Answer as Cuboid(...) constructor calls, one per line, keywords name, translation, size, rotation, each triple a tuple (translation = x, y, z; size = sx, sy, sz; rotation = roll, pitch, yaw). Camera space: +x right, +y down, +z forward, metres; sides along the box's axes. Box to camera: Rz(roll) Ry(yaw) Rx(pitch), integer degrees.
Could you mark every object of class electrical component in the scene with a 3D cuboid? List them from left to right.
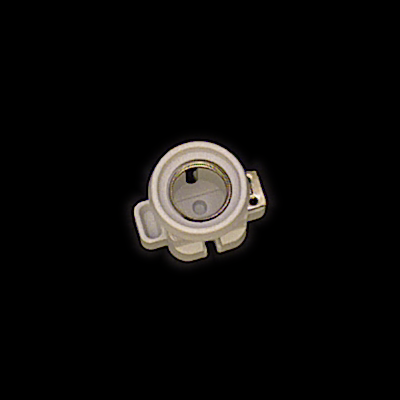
Cuboid(name="electrical component", translation=(0.000, 0.000, 0.629), size=(0.078, 0.058, 0.056), rotation=(-16, -16, -5))
